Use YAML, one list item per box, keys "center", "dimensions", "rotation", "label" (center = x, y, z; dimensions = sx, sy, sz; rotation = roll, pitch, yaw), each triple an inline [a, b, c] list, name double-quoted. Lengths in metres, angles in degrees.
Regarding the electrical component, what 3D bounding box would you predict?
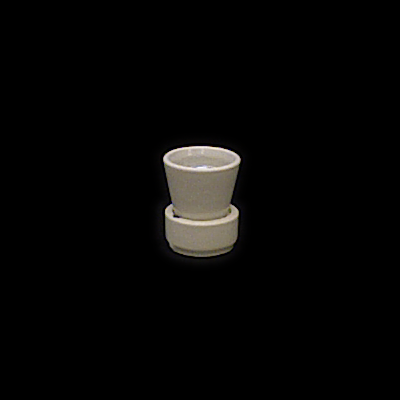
- center: [0.000, 0.000, 0.639]
  dimensions: [0.045, 0.056, 0.044]
  rotation: [1, 21, 0]
  label: "electrical component"
